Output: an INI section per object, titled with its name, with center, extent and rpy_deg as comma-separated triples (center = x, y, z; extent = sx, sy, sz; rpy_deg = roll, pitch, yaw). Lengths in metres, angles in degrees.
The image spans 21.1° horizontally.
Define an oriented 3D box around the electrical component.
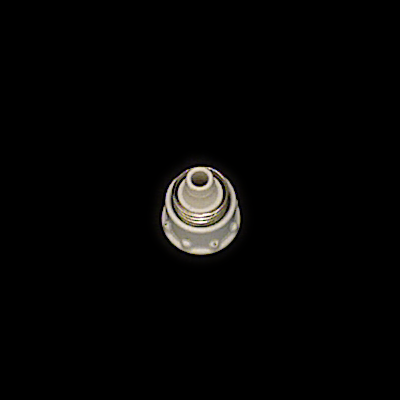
[electrical component]
center = 0.000, 0.000, 0.632
extent = 0.048, 0.048, 0.062
rpy_deg = 0, -26, 1
